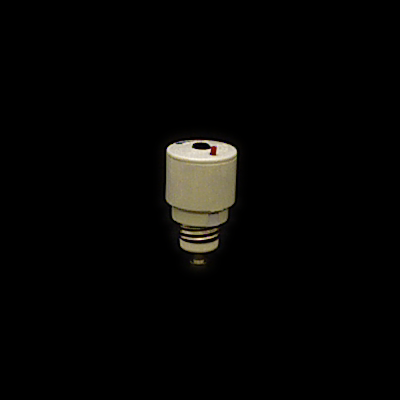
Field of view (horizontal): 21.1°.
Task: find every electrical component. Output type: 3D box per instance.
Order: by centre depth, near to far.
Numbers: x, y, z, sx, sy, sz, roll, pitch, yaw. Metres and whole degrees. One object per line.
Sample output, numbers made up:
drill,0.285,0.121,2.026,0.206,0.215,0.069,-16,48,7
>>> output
electrical component,0.000,0.000,0.633,0.040,0.079,0.039,1,22,0
